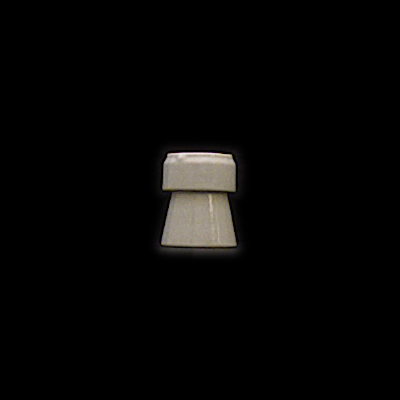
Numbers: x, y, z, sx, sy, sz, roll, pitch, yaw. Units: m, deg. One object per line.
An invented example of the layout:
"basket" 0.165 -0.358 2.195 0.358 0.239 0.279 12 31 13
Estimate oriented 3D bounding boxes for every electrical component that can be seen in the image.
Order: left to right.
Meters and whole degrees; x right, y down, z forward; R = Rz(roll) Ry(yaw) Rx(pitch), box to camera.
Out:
"electrical component" 0.000 0.000 0.650 0.045 0.055 0.045 1 0 0
